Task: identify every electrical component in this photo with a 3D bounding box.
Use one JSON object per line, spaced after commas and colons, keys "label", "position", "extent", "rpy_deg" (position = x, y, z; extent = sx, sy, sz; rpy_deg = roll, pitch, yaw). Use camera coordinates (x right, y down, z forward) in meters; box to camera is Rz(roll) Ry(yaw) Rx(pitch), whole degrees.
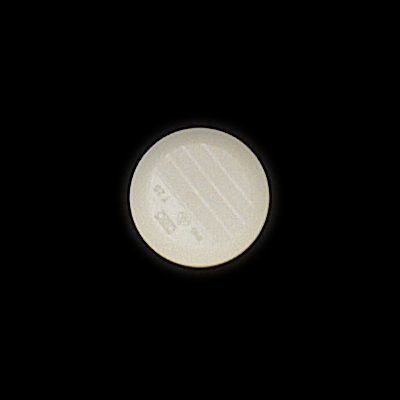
{"label": "electrical component", "position": [0.000, 0.000, 0.631], "extent": [0.080, 0.080, 0.050], "rpy_deg": [0, -7, 0]}
